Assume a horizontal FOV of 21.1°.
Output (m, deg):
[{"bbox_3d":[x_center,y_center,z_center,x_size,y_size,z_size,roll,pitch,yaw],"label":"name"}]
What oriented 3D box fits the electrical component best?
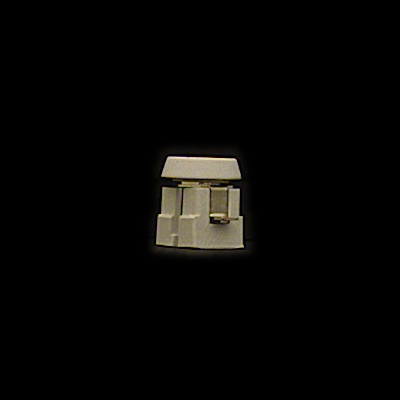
[{"bbox_3d":[0.000,0.000,0.656,0.049,0.055,0.066,-2,3,-35],"label":"electrical component"}]
